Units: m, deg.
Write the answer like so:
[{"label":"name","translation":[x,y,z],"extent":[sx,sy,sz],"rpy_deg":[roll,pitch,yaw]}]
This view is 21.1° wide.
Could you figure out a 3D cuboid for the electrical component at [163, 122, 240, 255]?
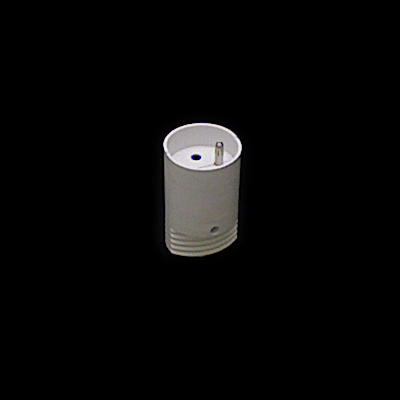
[{"label":"electrical component","translation":[0.000,0.000,0.625],"extent":[0.043,0.082,0.042],"rpy_deg":[1,42,-1]}]
